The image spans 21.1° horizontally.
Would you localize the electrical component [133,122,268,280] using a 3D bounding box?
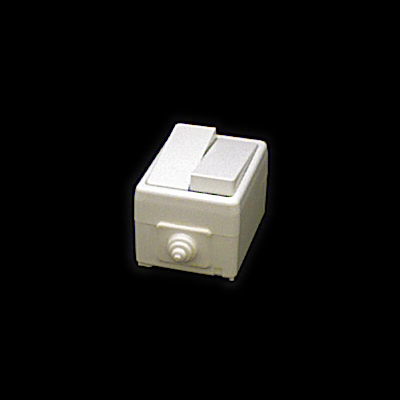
[{"bbox_3d":[0.000,0.000,0.632,0.061,0.061,0.095,9,32,13],"label":"electrical component"}]
